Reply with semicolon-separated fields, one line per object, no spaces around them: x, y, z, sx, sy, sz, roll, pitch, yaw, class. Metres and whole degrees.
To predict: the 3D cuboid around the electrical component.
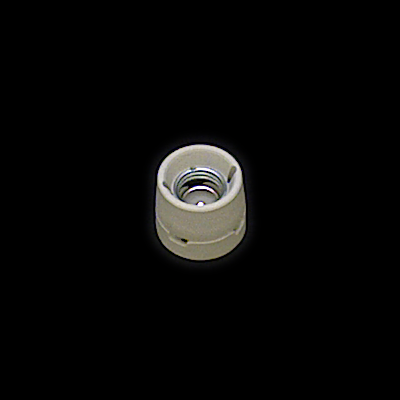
0.000;0.000;0.634;0.055;0.055;0.047;0;-38;1;electrical component
